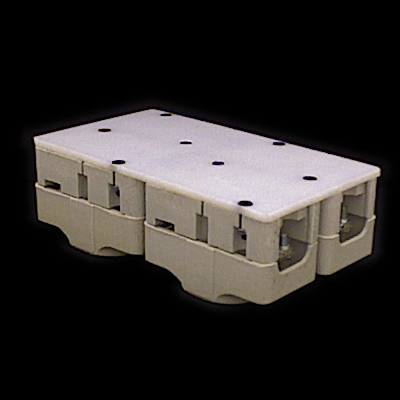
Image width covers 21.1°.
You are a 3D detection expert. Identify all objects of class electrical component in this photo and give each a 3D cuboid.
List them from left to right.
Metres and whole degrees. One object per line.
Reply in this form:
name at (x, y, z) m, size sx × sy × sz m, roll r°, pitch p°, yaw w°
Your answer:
electrical component at (0.000, 0.000, 0.638) m, size 0.185 × 0.061 × 0.105 m, roll 18°, pitch 26°, yaw 39°
